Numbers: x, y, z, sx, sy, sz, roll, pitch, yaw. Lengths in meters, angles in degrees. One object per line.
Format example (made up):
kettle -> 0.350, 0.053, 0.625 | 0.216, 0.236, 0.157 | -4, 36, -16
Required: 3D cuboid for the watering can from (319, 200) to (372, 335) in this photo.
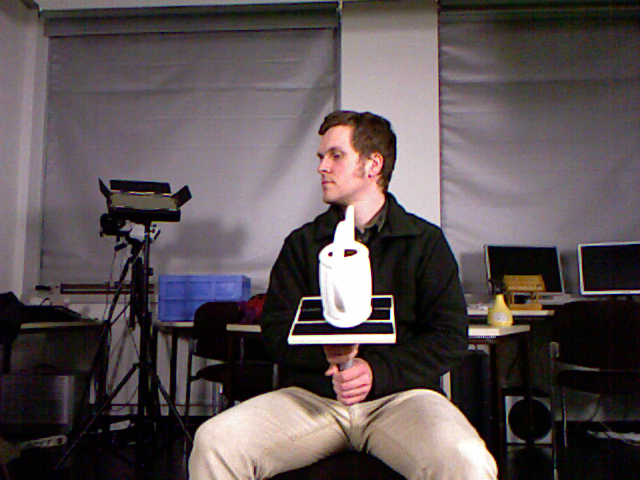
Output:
watering can -> 0.058, 0.051, 1.071 | 0.104, 0.221, 0.353 | 0, 19, 9
